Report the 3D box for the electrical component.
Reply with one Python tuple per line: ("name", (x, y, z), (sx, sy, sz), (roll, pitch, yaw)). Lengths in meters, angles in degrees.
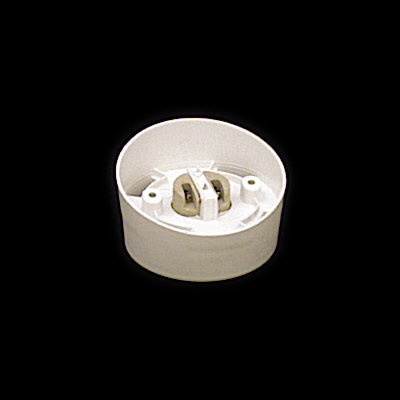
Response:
("electrical component", (0.000, 0.000, 0.633), (0.099, 0.065, 0.097), (0, 30, 0))
